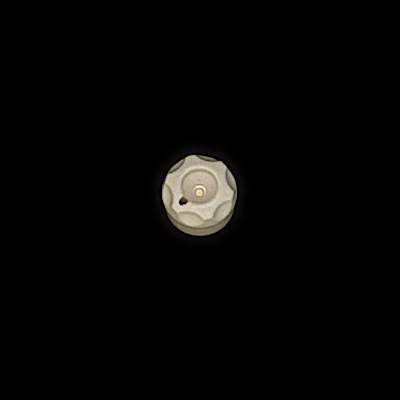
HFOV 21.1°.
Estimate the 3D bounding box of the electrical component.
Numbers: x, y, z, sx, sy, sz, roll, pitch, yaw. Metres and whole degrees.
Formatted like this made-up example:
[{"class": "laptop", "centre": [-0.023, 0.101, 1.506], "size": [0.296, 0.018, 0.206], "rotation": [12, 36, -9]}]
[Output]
[{"class": "electrical component", "centre": [0.000, 0.000, 0.634], "size": [0.043, 0.043, 0.061], "rotation": [0, -17, 0]}]
